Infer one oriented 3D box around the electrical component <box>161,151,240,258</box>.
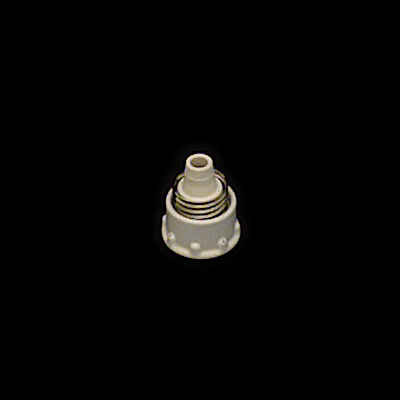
[{"bbox_3d":[0.000,0.000,0.636,0.048,0.062,0.047,0,42,1],"label":"electrical component"}]
